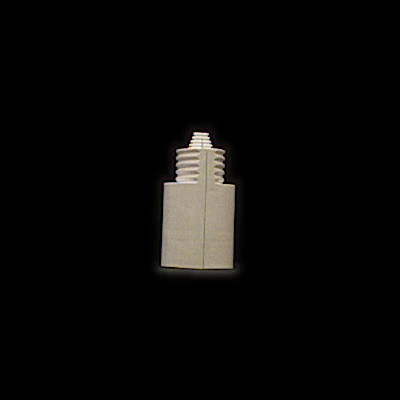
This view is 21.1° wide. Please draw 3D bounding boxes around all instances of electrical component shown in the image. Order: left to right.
[{"bbox_3d":[0.000,0.000,0.649,0.043,0.081,0.043,1,1,0],"label":"electrical component"}]
